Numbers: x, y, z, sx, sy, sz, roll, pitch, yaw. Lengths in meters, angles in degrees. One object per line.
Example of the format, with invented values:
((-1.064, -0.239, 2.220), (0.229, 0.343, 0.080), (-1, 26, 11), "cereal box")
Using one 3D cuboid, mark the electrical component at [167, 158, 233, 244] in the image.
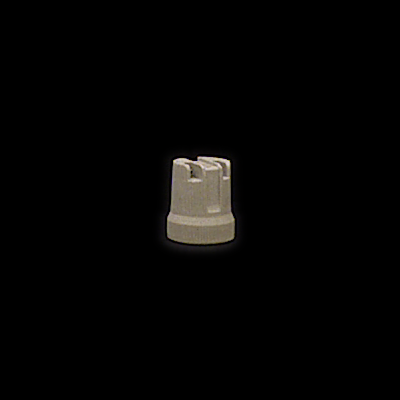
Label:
((0.000, 0.000, 0.644), (0.040, 0.046, 0.040), (1, 11, 0), "electrical component")
